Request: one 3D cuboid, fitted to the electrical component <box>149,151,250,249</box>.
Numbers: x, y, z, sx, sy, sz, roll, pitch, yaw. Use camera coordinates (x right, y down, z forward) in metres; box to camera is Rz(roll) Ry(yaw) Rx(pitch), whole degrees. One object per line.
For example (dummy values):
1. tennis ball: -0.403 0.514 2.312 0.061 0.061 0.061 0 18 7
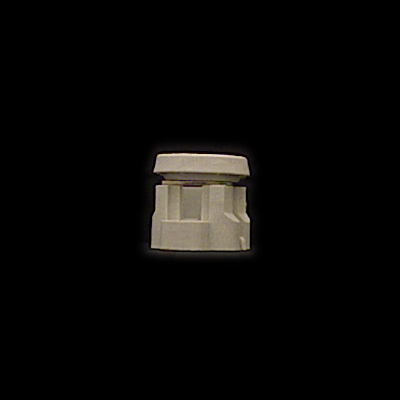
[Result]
1. electrical component: 0.000 0.000 0.652 0.057 0.057 0.079 1 0 20
